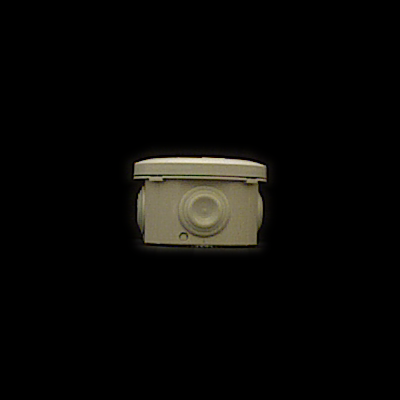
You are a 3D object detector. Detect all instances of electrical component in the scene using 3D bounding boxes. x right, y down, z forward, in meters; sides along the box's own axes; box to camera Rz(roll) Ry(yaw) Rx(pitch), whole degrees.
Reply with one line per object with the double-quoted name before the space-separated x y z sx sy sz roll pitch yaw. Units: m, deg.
"electrical component" 0.000 0.000 0.648 0.080 0.051 0.080 1 0 0
